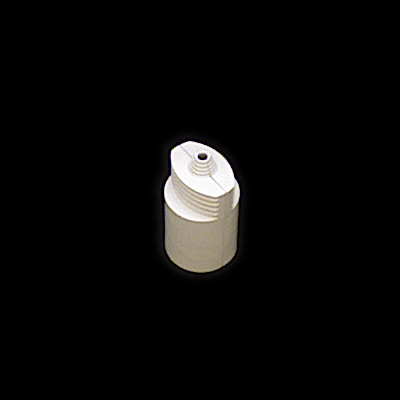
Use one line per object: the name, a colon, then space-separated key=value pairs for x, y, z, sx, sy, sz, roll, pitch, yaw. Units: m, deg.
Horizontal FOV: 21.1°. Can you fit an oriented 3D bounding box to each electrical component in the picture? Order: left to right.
electrical component: x=0.000 y=0.000 z=0.619 sx=0.043 sy=0.043 sz=0.081 roll=0 pitch=-38 yaw=0
